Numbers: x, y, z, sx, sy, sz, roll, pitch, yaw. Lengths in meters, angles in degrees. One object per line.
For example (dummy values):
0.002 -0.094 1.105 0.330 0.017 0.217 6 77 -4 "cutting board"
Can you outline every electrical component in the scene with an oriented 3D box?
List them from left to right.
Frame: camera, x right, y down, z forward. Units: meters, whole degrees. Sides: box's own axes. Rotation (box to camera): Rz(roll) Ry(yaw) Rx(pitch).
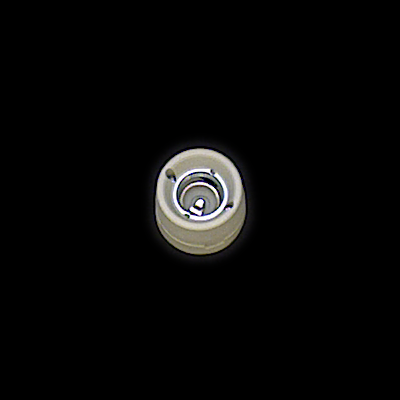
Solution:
0.000 0.000 0.633 0.055 0.056 0.047 0 -17 1 "electrical component"
